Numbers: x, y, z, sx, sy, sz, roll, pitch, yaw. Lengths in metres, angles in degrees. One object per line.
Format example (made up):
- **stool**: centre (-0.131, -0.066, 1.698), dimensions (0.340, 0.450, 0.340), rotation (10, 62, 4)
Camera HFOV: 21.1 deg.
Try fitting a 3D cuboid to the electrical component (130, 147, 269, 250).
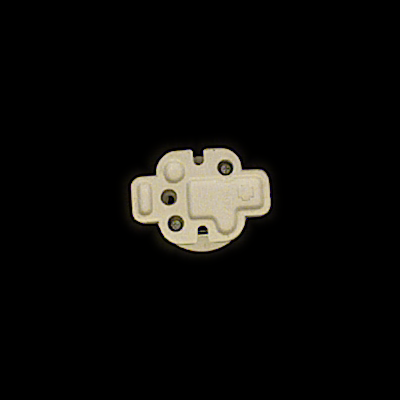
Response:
- **electrical component**: centre (0.000, 0.000, 0.637), dimensions (0.078, 0.058, 0.056), rotation (-4, -6, -1)
